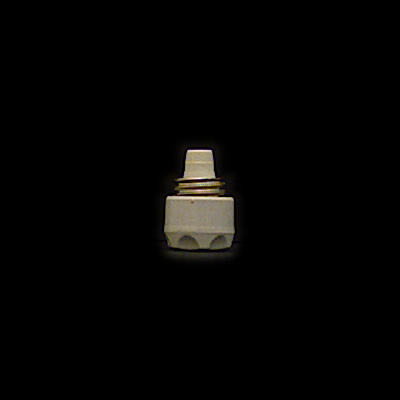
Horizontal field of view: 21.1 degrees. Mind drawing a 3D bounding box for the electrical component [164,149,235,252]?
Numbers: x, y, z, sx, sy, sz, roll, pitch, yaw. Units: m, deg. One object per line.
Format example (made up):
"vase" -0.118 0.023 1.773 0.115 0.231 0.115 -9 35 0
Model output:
"electrical component" 0.000 0.000 0.656 0.043 0.062 0.043 0 3 1
